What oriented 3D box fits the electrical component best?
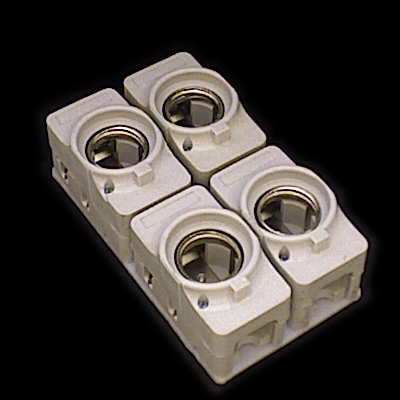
[{"bbox_3d":[0.000,0.000,0.627,0.105,0.185,0.060,-28,-32,-21],"label":"electrical component"}]
